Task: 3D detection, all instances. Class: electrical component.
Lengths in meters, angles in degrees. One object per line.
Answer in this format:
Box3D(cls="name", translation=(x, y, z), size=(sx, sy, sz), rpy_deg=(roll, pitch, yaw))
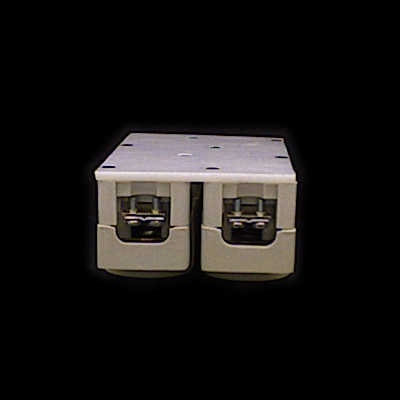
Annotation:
Box3D(cls="electrical component", translation=(0.000, 0.000, 0.644), size=(0.105, 0.061, 0.184), rpy_deg=(1, 10, 2))
